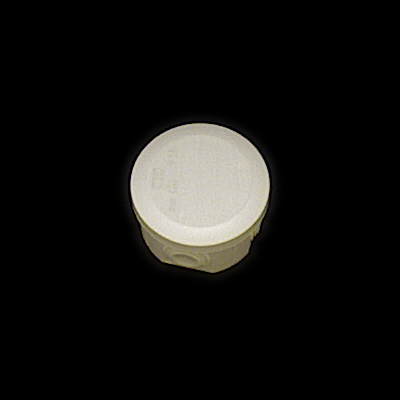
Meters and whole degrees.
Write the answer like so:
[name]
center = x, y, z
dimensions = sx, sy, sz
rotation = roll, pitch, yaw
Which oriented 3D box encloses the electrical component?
[electrical component]
center = 0.000, 0.000, 0.631
dimensions = 0.080, 0.080, 0.050
rotation = 0, -28, 0
